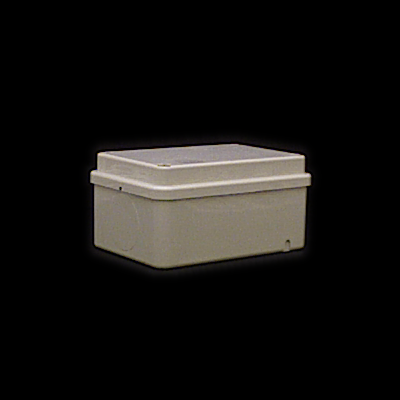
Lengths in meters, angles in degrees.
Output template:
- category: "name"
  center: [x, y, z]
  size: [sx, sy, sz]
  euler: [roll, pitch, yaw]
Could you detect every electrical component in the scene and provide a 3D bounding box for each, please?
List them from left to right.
- category: "electrical component"
  center: [0.000, 0.000, 0.642]
  size: [0.113, 0.057, 0.077]
  euler: [-6, 13, -36]
